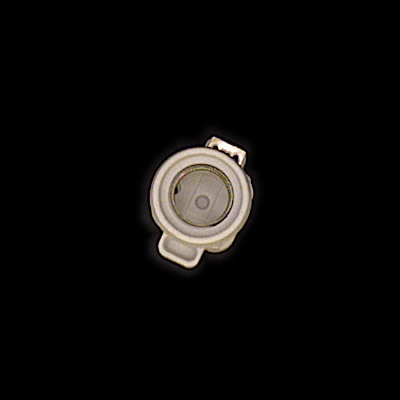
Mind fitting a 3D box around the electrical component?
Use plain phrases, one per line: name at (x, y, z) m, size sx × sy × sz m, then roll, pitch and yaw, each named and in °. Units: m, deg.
electrical component at (0.000, 0.000, 0.630) m, size 0.058 × 0.079 × 0.056 m, roll 25°, pitch -6°, yaw 3°
